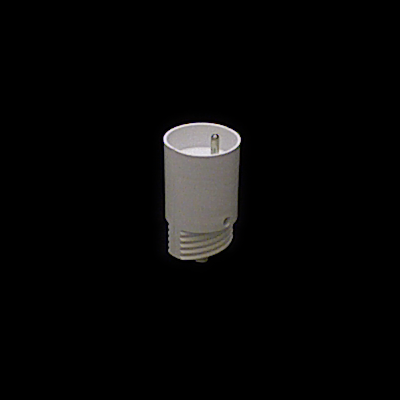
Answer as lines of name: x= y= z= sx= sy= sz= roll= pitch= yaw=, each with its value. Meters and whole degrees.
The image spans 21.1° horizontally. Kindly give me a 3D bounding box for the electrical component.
electrical component: x=0.000 y=0.000 z=0.630 sx=0.043 sy=0.082 sz=0.042 roll=2 pitch=31 yaw=-1
